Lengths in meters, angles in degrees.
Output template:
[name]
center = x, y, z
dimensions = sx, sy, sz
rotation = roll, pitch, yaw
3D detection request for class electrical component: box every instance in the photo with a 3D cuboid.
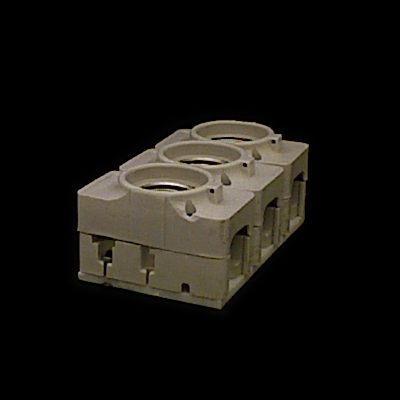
[electrical component]
center = 0.000, 0.000, 0.645
dimensions = 0.089, 0.063, 0.147
rotation = 10, 22, 20
